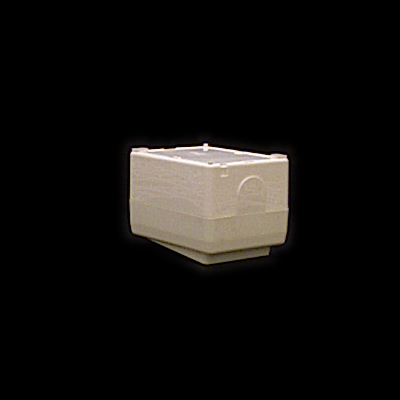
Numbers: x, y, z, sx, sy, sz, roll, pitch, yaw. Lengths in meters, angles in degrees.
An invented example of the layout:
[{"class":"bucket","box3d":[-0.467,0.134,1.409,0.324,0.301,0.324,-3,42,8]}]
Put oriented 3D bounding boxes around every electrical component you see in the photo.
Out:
[{"class":"electrical component","box3d":[0.000,0.000,0.647,0.061,0.061,0.095,-7,13,-38]}]
